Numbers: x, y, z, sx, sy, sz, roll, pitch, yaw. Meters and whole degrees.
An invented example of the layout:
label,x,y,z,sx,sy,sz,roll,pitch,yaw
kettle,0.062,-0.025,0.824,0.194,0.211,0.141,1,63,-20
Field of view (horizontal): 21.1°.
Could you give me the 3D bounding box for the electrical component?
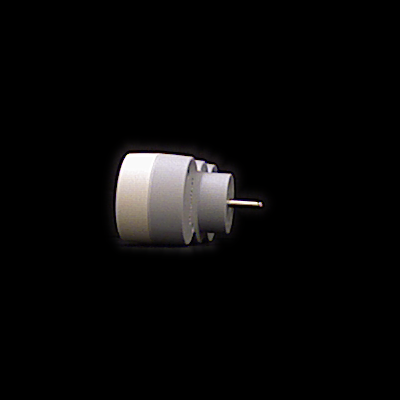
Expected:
label,x,y,z,sx,sy,sz,roll,pitch,yaw
electrical component,0.000,0.000,0.653,0.073,0.052,0.138,3,0,9
